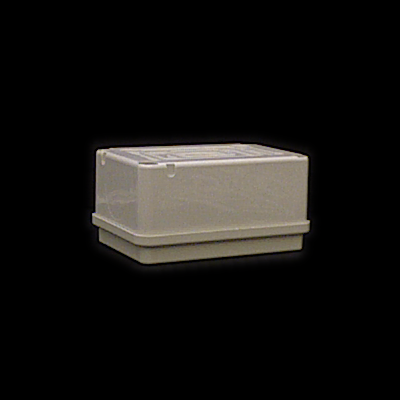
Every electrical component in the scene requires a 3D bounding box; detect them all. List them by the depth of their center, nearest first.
[{"bbox_3d":[0.000,0.000,0.645,0.113,0.057,0.077,-3,11,-27],"label":"electrical component"}]
